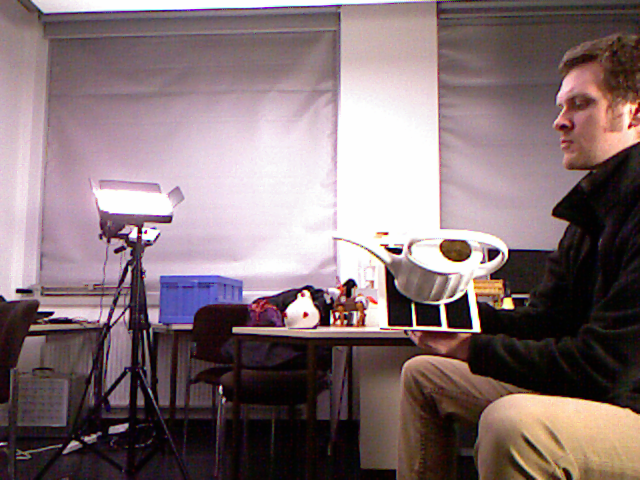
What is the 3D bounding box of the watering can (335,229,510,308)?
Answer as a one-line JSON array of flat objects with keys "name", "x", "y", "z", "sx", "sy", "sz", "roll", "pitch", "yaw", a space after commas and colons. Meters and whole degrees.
[{"name": "watering can", "x": 0.194, "y": 0.046, "z": 1.029, "sx": 0.348, "sy": 0.107, "sz": 0.219, "roll": 4, "pitch": -35, "yaw": -3}]
